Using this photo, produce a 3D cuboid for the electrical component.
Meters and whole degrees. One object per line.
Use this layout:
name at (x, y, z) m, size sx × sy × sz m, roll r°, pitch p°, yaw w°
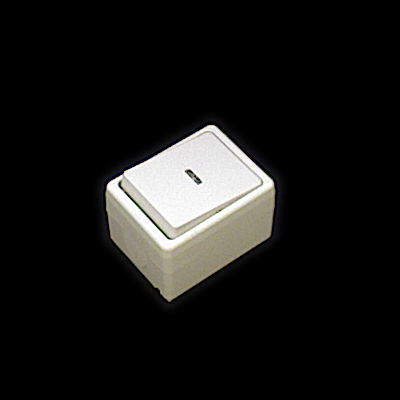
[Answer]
electrical component at (0.000, 0.000, 0.628) m, size 0.096 × 0.061 × 0.061 m, roll -31°, pitch -31°, yaw -23°
